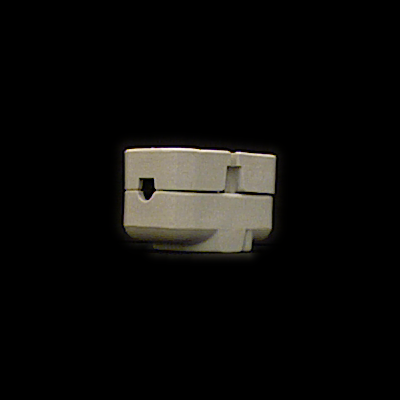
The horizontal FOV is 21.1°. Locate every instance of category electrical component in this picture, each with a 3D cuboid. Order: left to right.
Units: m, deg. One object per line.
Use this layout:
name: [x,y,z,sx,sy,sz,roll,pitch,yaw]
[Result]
electrical component: [0.000,0.000,0.656,0.053,0.059,0.096,2,1,42]
